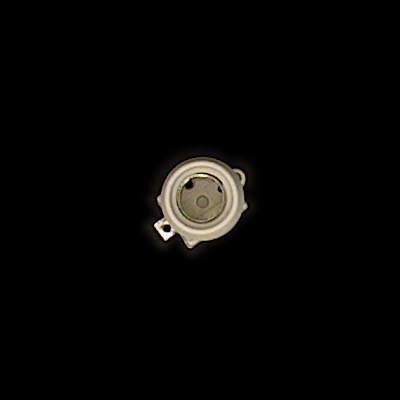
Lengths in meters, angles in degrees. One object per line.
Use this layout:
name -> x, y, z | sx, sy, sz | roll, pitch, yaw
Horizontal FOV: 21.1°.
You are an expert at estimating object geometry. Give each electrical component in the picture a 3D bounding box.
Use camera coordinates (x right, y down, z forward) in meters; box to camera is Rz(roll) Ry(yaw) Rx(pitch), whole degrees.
electrical component -> 0.000, 0.000, 0.639 | 0.066, 0.048, 0.055 | -37, -7, -3
